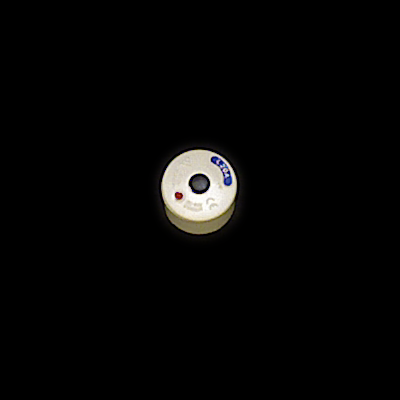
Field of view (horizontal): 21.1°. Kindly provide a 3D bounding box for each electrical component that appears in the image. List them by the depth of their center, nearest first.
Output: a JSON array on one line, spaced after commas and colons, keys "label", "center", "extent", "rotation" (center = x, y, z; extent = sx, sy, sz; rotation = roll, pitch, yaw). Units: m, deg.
[{"label": "electrical component", "center": [0.000, 0.000, 0.617], "extent": [0.040, 0.040, 0.078], "rotation": [0, -16, 1]}]
